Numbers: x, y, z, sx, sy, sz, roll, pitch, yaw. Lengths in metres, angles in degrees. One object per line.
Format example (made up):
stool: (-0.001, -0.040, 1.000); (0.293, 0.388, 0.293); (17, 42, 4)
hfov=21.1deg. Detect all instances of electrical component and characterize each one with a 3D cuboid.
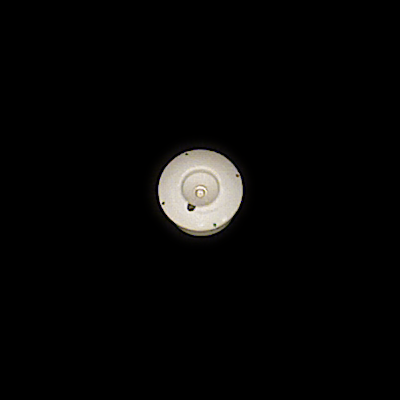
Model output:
electrical component: (0.000, 0.000, 0.633); (0.048, 0.048, 0.061); (0, -16, 1)
